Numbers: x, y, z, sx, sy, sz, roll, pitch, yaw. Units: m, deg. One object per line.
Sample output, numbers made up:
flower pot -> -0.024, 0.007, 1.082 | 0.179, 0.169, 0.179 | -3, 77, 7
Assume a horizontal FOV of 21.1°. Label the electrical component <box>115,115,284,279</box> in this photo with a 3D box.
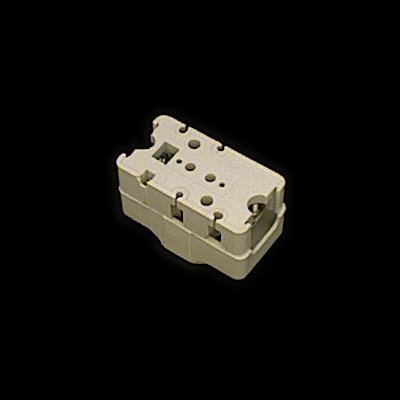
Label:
electrical component -> 0.000, 0.000, 0.637 | 0.089, 0.050, 0.056 | 29, -31, 20
